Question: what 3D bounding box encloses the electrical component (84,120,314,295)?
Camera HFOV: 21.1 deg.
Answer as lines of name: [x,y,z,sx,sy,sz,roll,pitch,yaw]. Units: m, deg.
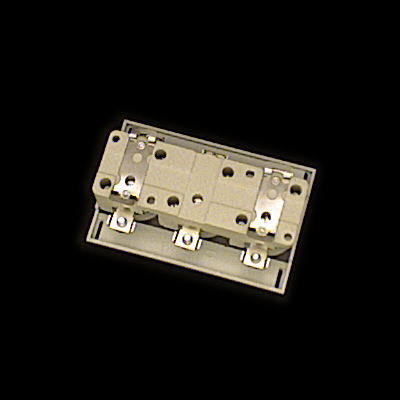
electrical component: [0.000,0.000,0.635,0.121,0.079,0.063,15,-16,4]
